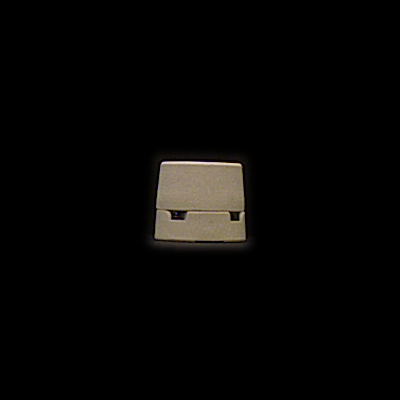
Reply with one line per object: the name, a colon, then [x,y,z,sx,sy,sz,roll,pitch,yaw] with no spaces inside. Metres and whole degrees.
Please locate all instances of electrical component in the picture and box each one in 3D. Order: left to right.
electrical component: [0.000,0.000,0.649,0.055,0.047,0.055,1,2,0]
